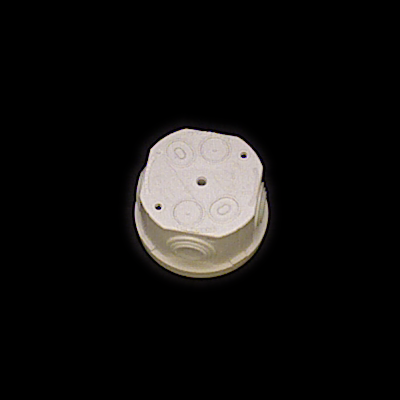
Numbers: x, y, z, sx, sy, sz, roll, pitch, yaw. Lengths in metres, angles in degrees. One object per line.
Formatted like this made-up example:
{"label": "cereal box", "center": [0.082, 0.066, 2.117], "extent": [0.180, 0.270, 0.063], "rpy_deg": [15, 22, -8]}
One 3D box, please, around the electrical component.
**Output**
{"label": "electrical component", "center": [0.000, 0.000, 0.632], "extent": [0.080, 0.080, 0.050], "rpy_deg": [0, -28, -1]}
